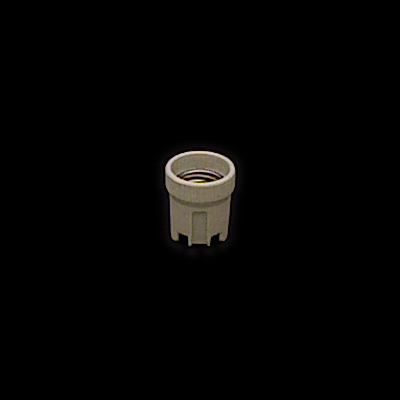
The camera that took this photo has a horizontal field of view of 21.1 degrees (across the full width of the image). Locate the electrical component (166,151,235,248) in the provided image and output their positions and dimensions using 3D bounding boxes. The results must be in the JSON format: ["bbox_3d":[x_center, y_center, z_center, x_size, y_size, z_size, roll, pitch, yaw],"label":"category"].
[{"bbox_3d":[0.000,0.000,0.634,0.040,0.047,0.039,1,32,0],"label":"electrical component"}]
